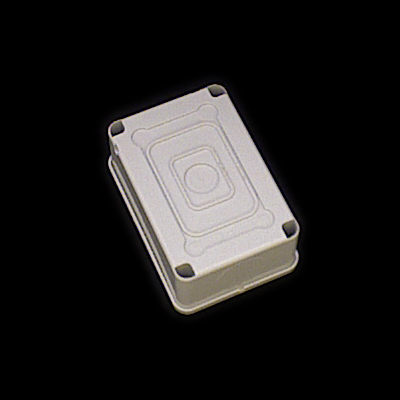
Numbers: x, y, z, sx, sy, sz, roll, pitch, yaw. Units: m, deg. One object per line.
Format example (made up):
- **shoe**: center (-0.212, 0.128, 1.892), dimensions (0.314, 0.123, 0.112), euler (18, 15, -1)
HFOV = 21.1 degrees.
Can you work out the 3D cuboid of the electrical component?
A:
- **electrical component**: center (0.000, 0.000, 0.628), dimensions (0.078, 0.113, 0.057), euler (-22, -24, -11)
